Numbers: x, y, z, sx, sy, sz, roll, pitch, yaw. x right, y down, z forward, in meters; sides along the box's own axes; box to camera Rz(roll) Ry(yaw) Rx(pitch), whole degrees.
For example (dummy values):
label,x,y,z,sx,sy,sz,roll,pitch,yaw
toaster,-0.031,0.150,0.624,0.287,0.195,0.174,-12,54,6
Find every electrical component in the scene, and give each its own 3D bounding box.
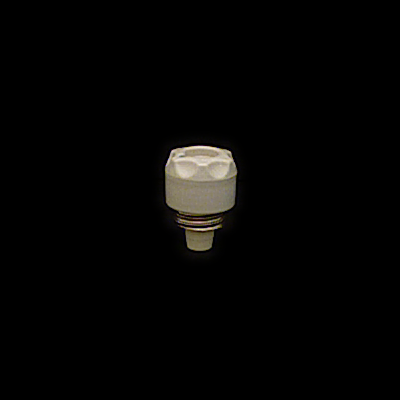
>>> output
label,x,y,z,sx,sy,sz,roll,pitch,yaw
electrical component,0.000,0.000,0.647,0.043,0.063,0.043,1,21,0
